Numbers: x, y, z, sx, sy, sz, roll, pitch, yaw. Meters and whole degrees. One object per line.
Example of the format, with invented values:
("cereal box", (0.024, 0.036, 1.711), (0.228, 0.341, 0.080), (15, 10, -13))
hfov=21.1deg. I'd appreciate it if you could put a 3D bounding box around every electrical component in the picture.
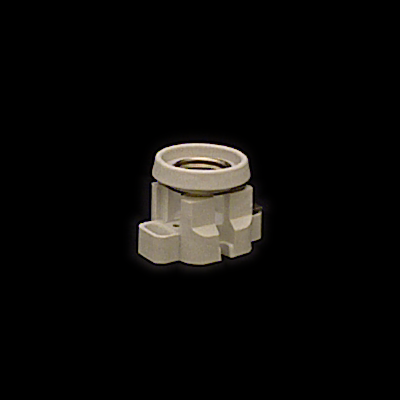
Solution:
("electrical component", (0.000, 0.000, 0.641), (0.078, 0.057, 0.057), (-13, 25, -33))
